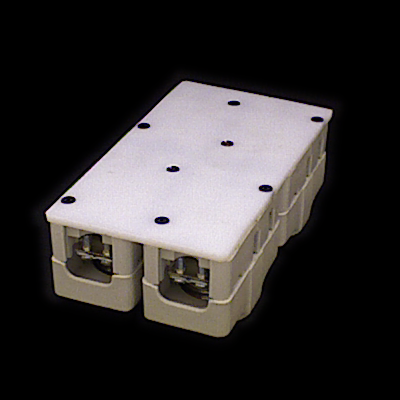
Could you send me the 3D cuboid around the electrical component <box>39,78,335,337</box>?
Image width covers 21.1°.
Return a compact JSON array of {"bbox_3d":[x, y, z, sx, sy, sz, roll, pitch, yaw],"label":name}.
[{"bbox_3d":[0.000,0.000,0.634,0.105,0.061,0.184,13,33,19],"label":"electrical component"}]
